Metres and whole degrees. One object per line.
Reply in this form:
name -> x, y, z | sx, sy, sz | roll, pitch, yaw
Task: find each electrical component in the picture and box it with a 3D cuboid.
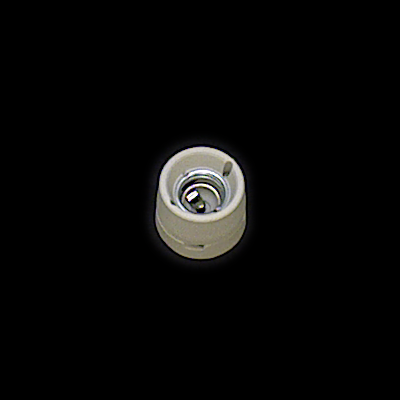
electrical component -> 0.000, 0.000, 0.633 | 0.055, 0.055, 0.047 | 0, -28, -1
